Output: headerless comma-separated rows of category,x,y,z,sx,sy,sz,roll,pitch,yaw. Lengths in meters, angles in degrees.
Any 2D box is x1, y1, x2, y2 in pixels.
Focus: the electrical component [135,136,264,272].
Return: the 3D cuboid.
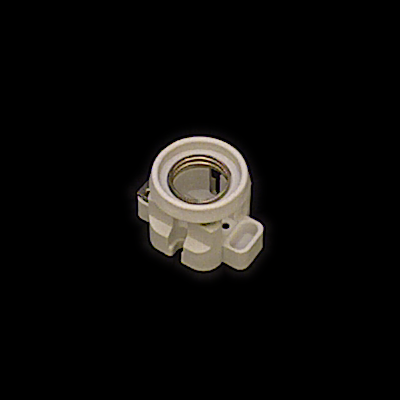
electrical component,0.000,0.000,0.629,0.078,0.058,0.057,27,-33,19
